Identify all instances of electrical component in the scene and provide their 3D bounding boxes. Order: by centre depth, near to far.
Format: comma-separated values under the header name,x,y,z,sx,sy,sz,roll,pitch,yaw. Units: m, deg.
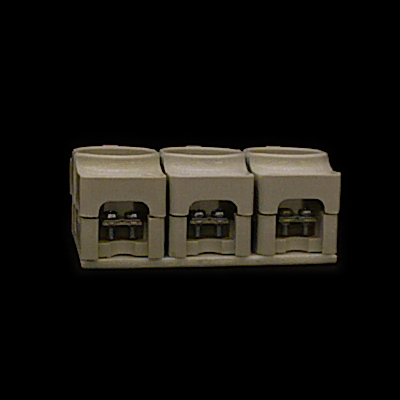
name,x,y,z,sx,sy,sz,roll,pitch,yaw
electrical component,0.000,0.000,0.652,0.150,0.062,0.088,0,10,-10
